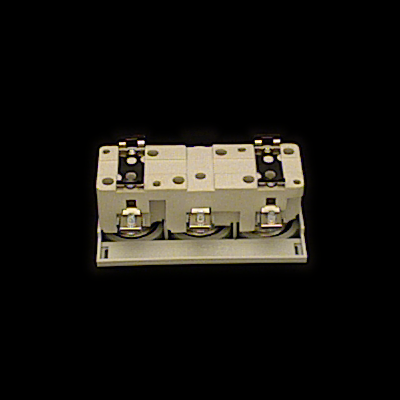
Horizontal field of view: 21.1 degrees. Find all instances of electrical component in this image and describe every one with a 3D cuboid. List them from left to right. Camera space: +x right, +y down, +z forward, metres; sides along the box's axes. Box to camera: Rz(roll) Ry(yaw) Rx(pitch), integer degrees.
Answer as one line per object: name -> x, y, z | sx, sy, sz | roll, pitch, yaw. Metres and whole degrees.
electrical component -> 0.000, 0.000, 0.640 | 0.121, 0.063, 0.077 | -1, 42, -2
